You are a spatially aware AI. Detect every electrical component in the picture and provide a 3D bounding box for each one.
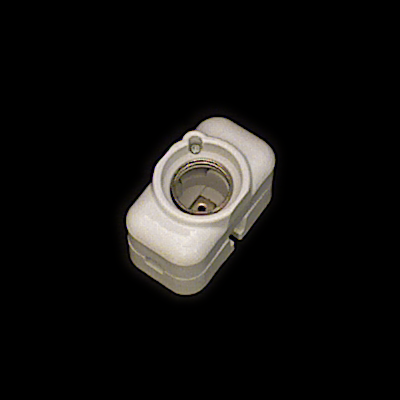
[{"bbox_3d":[0.000,0.000,0.634,0.053,0.096,0.059,32,-23,15],"label":"electrical component"}]
